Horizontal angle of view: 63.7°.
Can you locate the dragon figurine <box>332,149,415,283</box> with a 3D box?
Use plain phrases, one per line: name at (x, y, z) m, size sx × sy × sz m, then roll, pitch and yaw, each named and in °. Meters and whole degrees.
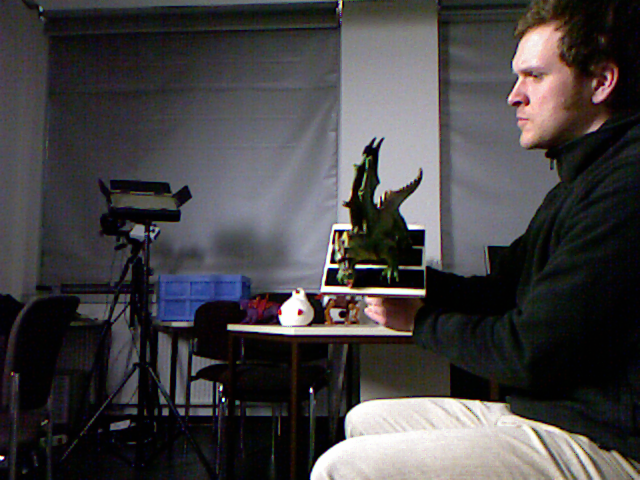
dragon figurine at (0.114, -0.063, 0.988) m, size 0.123 × 0.421 × 0.238 m, roll 12°, pitch -41°, yaw 19°
